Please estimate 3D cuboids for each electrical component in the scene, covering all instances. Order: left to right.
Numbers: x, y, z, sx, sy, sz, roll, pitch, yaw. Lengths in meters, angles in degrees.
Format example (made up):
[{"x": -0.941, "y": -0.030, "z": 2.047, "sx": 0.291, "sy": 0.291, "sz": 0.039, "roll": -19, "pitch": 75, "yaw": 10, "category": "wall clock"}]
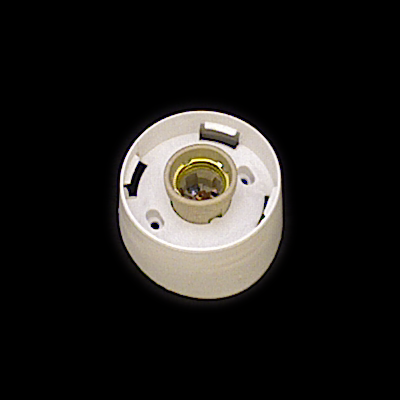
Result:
[{"x": 0.000, "y": 0.000, "z": 0.625, "sx": 0.099, "sy": 0.099, "sz": 0.064, "roll": 0, "pitch": -27, "yaw": 0, "category": "electrical component"}]
